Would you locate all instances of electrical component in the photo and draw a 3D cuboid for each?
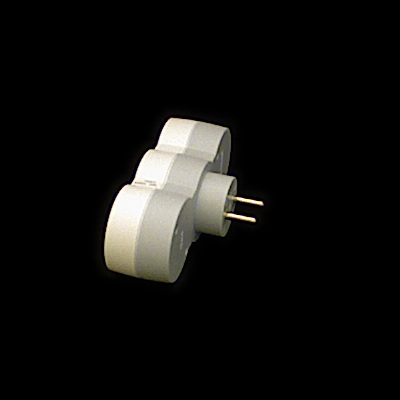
[{"bbox_3d":[0.000,0.000,0.642,0.073,0.053,0.137,11,33,12],"label":"electrical component"}]
